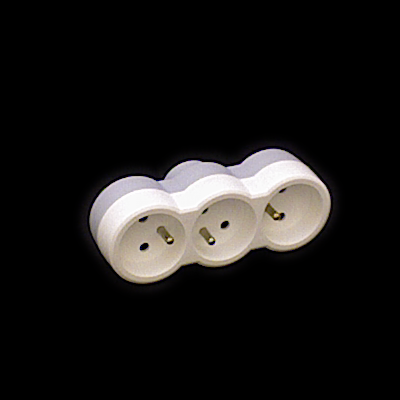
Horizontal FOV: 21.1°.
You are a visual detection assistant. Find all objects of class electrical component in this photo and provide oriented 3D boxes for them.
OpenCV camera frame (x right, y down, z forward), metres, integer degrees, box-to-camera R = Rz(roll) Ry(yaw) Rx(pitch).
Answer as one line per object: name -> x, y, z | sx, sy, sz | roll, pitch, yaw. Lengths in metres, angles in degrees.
electrical component -> 0.000, 0.000, 0.635 | 0.138, 0.053, 0.073 | -12, 32, -19
